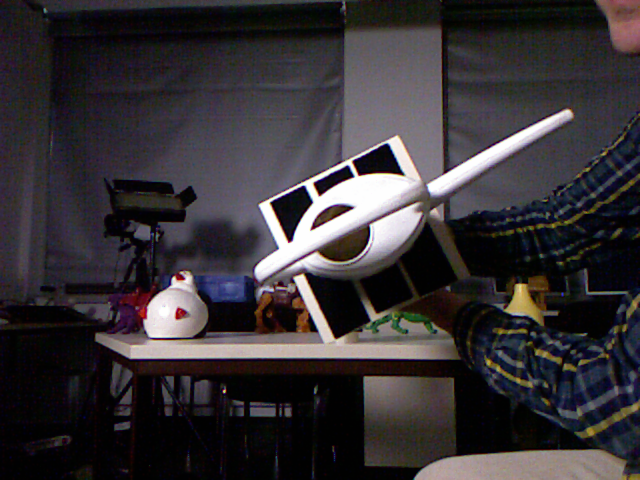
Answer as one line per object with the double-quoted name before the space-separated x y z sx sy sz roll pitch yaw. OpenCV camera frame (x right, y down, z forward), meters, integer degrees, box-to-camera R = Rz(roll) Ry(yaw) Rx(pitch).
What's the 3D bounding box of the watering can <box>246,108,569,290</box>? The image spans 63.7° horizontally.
"watering can" 0.086 -0.029 0.574 0.351 0.106 0.226 -26 -7 3
